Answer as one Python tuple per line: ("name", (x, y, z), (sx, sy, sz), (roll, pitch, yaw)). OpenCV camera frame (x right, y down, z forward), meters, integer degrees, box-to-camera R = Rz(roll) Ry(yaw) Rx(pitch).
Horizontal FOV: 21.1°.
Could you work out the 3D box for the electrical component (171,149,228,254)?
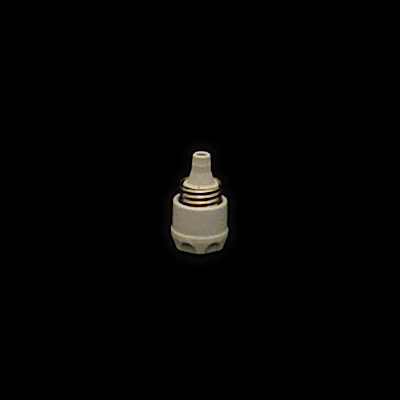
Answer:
("electrical component", (0.000, 0.000, 0.653), (0.035, 0.062, 0.034), (2, 23, 0))
